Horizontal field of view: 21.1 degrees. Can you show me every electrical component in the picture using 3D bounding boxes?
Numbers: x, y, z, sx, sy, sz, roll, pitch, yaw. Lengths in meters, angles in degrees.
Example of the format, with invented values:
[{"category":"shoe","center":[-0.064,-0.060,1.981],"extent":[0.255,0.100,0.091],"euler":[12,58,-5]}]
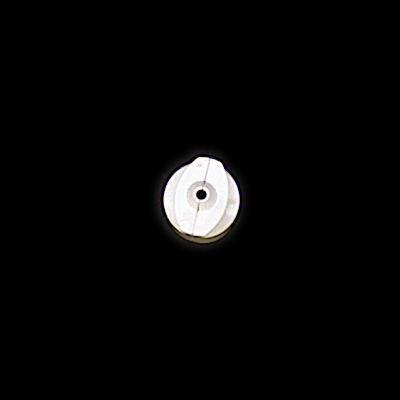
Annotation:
[{"category":"electrical component","center":[0.000,0.000,0.616],"extent":[0.043,0.043,0.080],"euler":[0,-6,1]}]
